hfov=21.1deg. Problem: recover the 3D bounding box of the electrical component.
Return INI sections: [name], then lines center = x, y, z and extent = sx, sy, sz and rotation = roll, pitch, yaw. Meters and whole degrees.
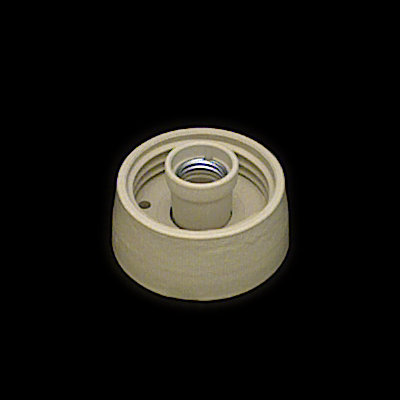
[electrical component]
center = 0.000, 0.000, 0.636
extent = 0.108, 0.061, 0.107
rotation = 1, 42, 0
